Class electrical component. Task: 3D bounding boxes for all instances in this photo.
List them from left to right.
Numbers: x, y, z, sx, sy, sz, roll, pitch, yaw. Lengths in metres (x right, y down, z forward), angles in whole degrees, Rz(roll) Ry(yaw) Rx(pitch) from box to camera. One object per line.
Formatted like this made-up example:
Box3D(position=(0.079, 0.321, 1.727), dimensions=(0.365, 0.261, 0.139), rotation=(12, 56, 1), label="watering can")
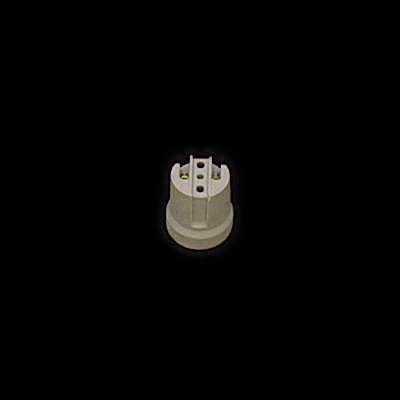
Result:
Box3D(position=(0.000, 0.000, 0.635), dimensions=(0.040, 0.040, 0.046), rotation=(0, -37, -1), label="electrical component")
